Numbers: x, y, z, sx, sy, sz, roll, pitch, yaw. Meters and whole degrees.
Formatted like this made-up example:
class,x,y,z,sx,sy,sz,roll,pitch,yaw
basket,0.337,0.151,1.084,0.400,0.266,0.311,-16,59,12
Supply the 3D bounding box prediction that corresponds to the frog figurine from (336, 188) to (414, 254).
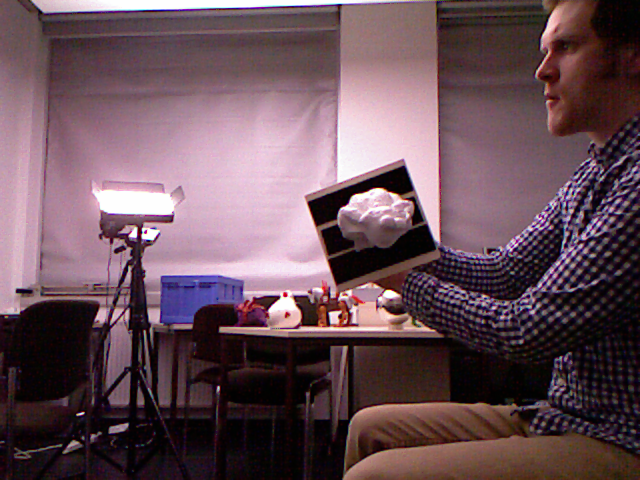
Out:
class,x,y,z,sx,sy,sz,roll,pitch,yaw
frog figurine,0.096,-0.040,0.900,0.138,0.124,0.158,-3,-10,4
